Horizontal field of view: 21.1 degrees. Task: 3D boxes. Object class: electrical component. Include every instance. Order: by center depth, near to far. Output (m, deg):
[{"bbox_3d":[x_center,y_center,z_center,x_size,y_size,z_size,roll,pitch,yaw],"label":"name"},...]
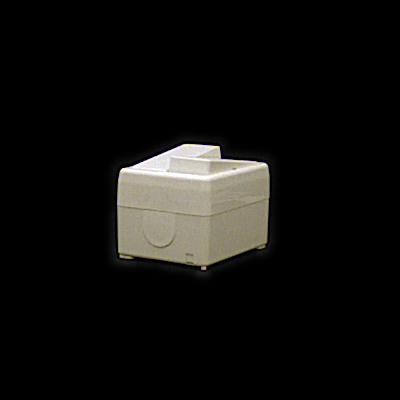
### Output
[{"bbox_3d":[0.000,0.000,0.647,0.061,0.061,0.096,7,12,30],"label":"electrical component"}]
